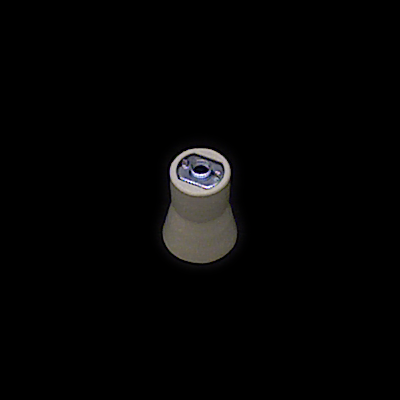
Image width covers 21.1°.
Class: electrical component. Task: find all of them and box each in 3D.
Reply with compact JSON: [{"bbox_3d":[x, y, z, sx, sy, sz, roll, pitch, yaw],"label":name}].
[{"bbox_3d":[0.000,0.000,0.626,0.044,0.044,0.065,0,-37,0],"label":"electrical component"}]
